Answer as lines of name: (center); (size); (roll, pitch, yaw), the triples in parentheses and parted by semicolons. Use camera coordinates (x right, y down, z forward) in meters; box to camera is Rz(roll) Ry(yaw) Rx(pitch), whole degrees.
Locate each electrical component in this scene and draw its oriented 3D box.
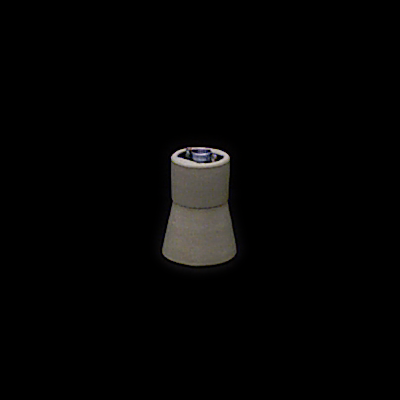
electrical component: (0.000, 0.000, 0.637); (0.044, 0.066, 0.044); (1, 22, 0)
